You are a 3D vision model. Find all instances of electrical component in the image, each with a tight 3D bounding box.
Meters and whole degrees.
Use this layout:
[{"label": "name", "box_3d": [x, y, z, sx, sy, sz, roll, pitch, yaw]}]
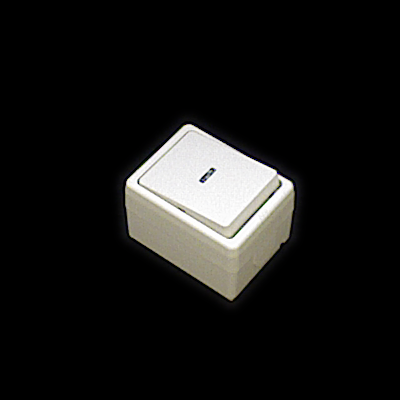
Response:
[{"label": "electrical component", "box_3d": [0.000, 0.000, 0.629, 0.096, 0.062, 0.061, 31, -32, 21]}]
